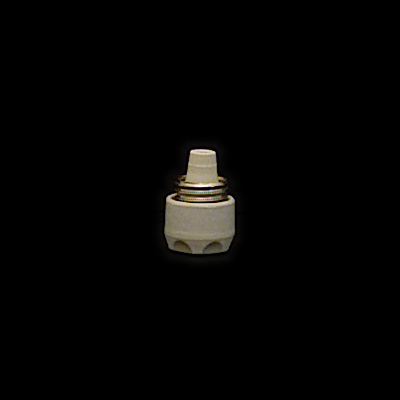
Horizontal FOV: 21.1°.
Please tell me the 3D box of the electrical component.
[{"bbox_3d":[0.000,0.000,0.650,0.043,0.062,0.043,2,13,0],"label":"electrical component"}]
